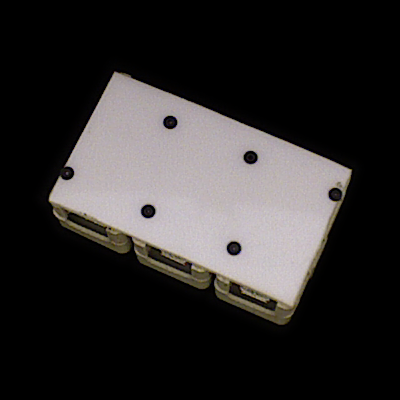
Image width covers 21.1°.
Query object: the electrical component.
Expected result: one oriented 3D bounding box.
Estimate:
[{"bbox_3d":[0.000,0.000,0.630,0.150,0.089,0.062,24,-16,7],"label":"electrical component"}]
